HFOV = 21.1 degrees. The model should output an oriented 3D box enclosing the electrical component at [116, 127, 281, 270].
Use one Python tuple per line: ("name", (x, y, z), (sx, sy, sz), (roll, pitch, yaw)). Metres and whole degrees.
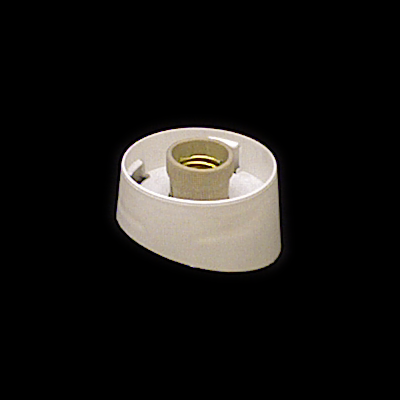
("electrical component", (0.000, 0.000, 0.633), (0.099, 0.065, 0.097), (1, 31, 0))
